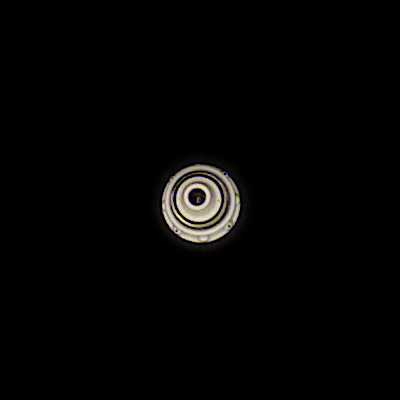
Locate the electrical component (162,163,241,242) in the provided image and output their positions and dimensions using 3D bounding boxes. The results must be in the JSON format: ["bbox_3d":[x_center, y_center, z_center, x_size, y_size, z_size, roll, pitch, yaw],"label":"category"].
[{"bbox_3d":[0.000,0.000,0.634,0.048,0.048,0.062,0,-5,2],"label":"electrical component"}]
